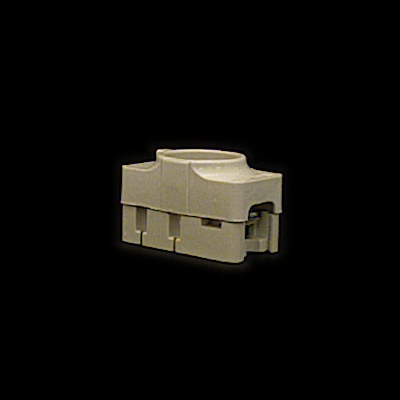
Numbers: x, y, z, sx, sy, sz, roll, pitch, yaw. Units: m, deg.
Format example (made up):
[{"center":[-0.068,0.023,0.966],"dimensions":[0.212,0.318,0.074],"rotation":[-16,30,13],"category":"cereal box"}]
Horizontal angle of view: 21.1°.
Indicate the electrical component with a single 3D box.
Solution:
[{"center":[0.000,0.000,0.652],"dimensions":[0.088,0.056,0.050],"rotation":[10,14,35],"category":"electrical component"}]
